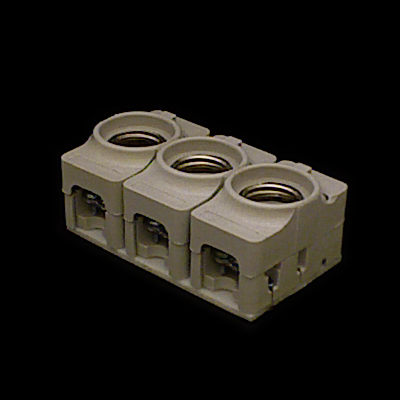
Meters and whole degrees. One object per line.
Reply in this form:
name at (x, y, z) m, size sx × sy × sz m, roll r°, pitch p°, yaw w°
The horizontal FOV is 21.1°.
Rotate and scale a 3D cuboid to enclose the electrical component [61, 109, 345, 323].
electrical component at (0.000, 0.000, 0.642) m, size 0.148 × 0.063 × 0.088 m, roll 24°, pitch 38°, yaw 33°
